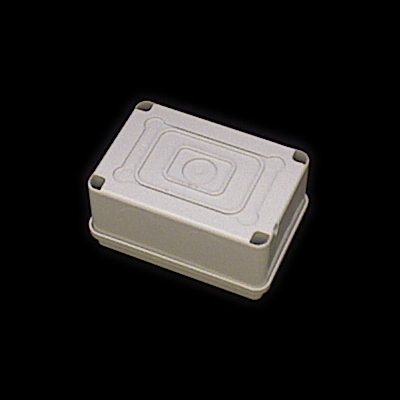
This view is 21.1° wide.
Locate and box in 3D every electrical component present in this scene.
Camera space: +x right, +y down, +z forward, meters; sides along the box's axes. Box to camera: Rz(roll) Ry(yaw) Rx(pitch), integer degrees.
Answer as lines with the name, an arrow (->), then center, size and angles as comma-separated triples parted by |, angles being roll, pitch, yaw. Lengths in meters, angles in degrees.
electrical component -> 0.000, 0.000, 0.629 | 0.113, 0.078, 0.057 | 19, -35, 14
